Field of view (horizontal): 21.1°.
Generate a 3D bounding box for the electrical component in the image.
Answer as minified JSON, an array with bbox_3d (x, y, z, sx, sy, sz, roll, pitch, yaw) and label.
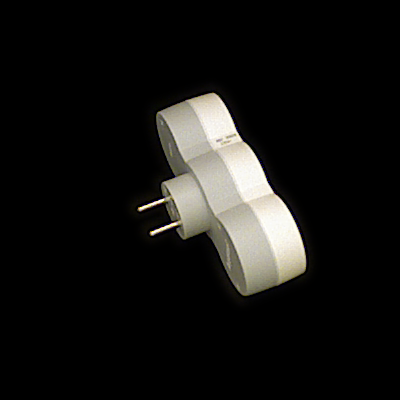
[{"bbox_3d":[0.000,0.000,0.639,0.074,0.137,0.052,-20,-34,-13],"label":"electrical component"}]
